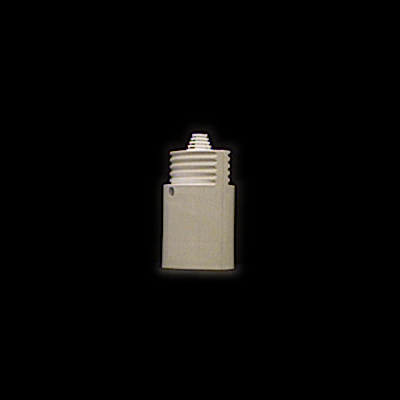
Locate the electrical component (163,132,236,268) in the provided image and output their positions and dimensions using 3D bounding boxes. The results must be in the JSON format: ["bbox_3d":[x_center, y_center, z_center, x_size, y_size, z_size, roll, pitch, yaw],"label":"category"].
[{"bbox_3d":[0.000,0.000,0.650,0.043,0.081,0.043,1,1,0],"label":"electrical component"}]
